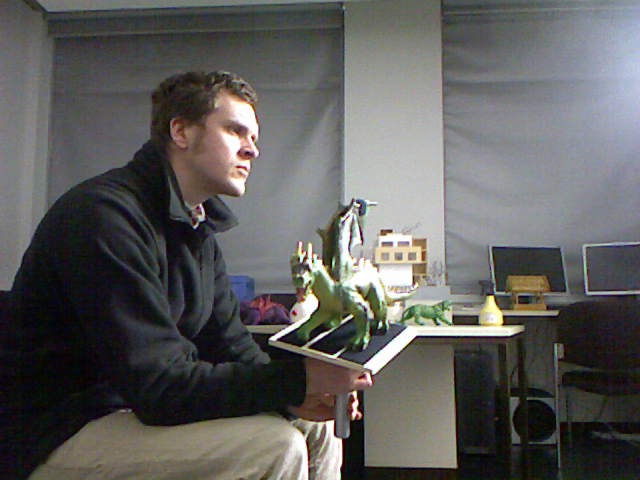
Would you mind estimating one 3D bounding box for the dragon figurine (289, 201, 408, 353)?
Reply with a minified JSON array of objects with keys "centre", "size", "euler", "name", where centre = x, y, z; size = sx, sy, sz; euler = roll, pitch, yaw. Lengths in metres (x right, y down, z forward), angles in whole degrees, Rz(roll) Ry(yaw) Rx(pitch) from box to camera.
[{"centre":[0.068,0.051,0.921],"size":[0.123,0.240,0.415],"euler":[12,18,31],"name":"dragon figurine"}]
